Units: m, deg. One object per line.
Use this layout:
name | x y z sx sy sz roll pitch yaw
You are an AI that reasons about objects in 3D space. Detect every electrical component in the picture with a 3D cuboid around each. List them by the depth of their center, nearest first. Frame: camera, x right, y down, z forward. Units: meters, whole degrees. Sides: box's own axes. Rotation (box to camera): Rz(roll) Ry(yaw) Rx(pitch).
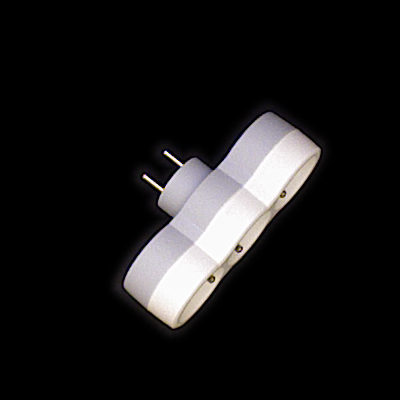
electrical component | 0.000 0.000 0.629 0.074 0.139 0.052 38 -13 13
